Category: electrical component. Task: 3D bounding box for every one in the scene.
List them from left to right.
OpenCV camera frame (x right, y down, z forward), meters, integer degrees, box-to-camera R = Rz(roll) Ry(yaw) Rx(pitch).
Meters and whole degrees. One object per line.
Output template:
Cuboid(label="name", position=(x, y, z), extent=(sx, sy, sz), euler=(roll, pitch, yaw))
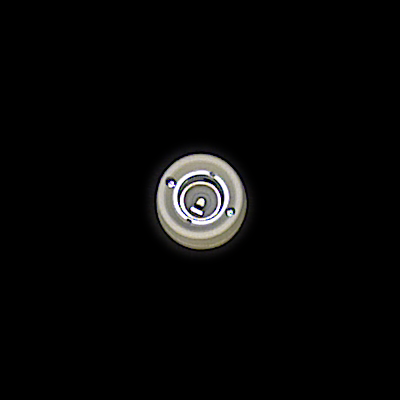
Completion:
Cuboid(label="electrical component", position=(0.000, 0.000, 0.634), extent=(0.055, 0.055, 0.047), euler=(0, -7, 1))
